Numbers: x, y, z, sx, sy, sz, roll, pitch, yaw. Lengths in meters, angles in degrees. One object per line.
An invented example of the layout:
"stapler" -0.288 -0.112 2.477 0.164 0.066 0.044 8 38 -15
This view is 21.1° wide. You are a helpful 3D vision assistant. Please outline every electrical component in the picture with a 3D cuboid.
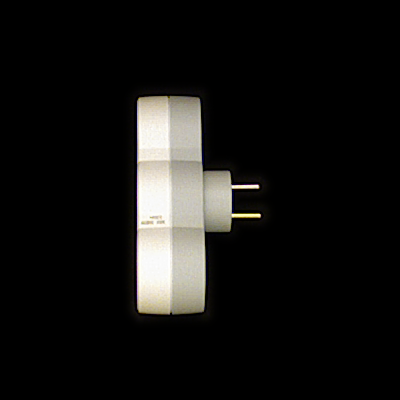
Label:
"electrical component" 0.000 0.000 0.637 0.074 0.138 0.052 -1 -27 -2
